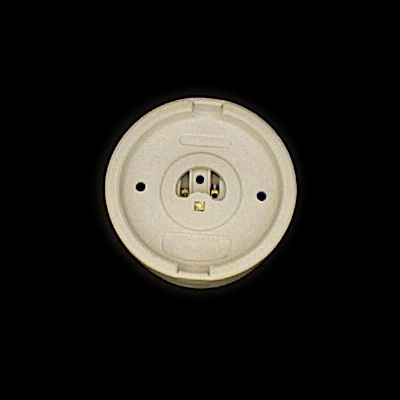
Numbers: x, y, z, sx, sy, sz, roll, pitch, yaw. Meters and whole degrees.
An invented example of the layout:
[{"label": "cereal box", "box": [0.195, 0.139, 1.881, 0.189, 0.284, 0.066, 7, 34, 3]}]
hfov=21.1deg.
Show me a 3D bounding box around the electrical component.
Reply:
[{"label": "electrical component", "box": [0.000, 0.000, 0.633, 0.108, 0.108, 0.060, 0, -17, 0]}]
